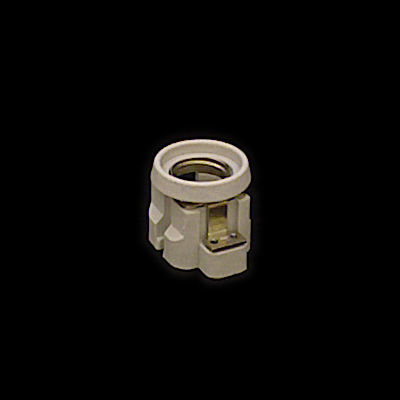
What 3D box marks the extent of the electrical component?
[{"bbox_3d":[0.000,0.000,0.634,0.058,0.057,0.077,-15,35,-24],"label":"electrical component"}]
